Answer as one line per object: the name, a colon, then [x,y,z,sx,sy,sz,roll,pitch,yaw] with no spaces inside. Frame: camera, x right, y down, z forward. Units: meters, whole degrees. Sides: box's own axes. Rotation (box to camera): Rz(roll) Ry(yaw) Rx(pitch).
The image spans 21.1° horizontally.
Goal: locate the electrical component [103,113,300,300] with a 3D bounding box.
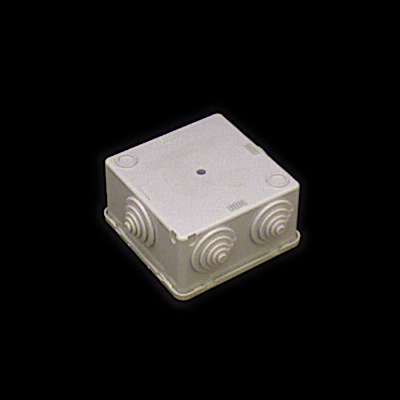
electrical component: [0.000,0.000,0.633,0.100,0.049,0.099,-24,48,-25]
